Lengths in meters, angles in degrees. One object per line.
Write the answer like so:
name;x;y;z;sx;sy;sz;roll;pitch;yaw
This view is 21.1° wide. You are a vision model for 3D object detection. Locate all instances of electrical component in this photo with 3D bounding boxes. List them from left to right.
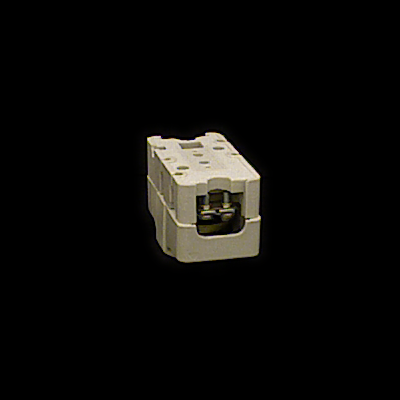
electrical component;0.000;0.000;0.646;0.050;0.056;0.088;-5;22;-14
